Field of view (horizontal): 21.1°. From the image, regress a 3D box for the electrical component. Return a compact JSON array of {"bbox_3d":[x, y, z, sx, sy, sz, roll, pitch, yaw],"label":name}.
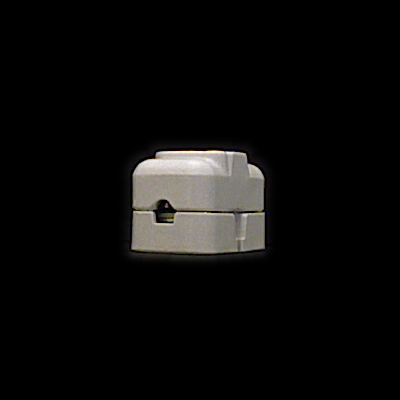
[{"bbox_3d":[0.000,0.000,0.656,0.053,0.059,0.096,2,1,26],"label":"electrical component"}]
